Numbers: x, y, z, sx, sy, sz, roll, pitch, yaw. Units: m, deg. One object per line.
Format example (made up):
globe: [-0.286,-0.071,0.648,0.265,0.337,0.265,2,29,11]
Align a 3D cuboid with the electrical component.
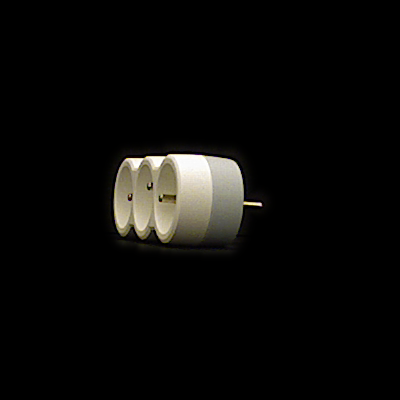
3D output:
electrical component: [0.000,0.000,0.656,0.074,0.052,0.137,2,0,-20]
